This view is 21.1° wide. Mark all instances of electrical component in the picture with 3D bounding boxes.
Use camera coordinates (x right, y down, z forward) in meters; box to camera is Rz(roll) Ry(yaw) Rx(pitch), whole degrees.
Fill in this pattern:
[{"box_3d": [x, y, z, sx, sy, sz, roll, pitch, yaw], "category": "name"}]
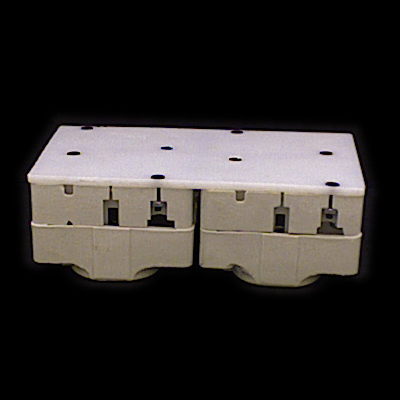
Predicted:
[{"box_3d": [0.000, 0.000, 0.638, 0.186, 0.061, 0.104, 2, 21, 2], "category": "electrical component"}]
